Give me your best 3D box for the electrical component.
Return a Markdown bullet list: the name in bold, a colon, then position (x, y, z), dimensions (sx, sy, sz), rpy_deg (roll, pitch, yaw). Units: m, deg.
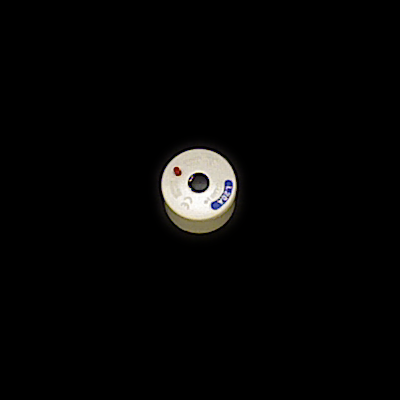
- **electrical component**: position (0.000, 0.000, 0.617), dimensions (0.040, 0.040, 0.078), rpy_deg (0, -17, 1)
